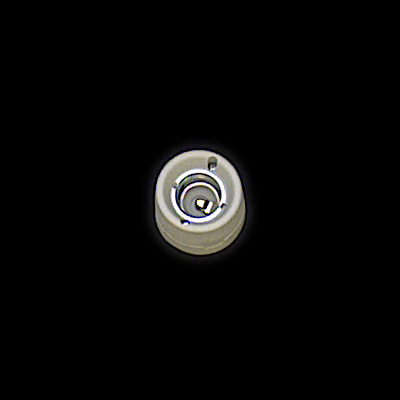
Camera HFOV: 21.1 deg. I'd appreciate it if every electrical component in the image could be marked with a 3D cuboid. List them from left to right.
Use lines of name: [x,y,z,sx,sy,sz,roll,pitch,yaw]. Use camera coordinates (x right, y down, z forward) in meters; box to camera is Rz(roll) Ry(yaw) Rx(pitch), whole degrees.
electrical component: [0.000,0.000,0.632,0.055,0.056,0.047,0,-16,1]
